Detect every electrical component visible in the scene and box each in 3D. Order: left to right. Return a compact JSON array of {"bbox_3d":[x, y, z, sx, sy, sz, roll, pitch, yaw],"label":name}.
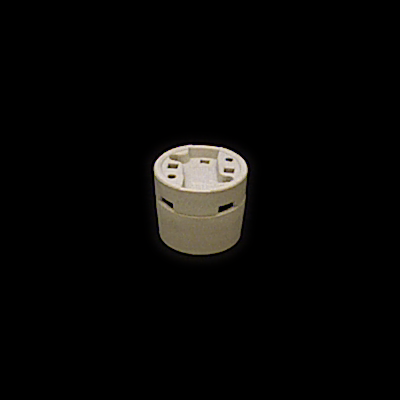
[{"bbox_3d":[0.000,0.000,0.638,0.055,0.047,0.055,1,31,0],"label":"electrical component"}]
